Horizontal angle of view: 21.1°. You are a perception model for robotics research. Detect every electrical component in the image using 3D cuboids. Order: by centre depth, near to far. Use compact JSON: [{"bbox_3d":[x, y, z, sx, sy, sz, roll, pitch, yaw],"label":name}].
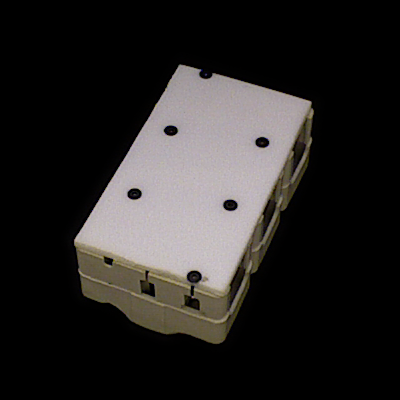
[{"bbox_3d":[0.000,0.000,0.635,0.089,0.148,0.063,19,-36,13],"label":"electrical component"}]
